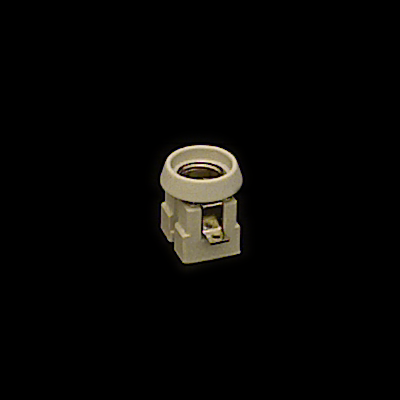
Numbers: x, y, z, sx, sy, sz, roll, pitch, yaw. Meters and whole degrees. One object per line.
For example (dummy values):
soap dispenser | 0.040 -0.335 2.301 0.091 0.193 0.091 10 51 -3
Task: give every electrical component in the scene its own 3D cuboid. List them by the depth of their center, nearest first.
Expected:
electrical component | 0.000 0.000 0.642 0.048 0.056 0.065 -13 35 -18
